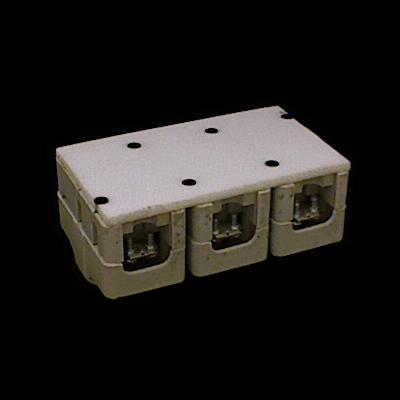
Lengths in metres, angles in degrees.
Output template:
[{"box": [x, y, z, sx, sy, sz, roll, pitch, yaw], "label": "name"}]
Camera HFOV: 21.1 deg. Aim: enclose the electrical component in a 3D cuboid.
[{"box": [0.000, 0.000, 0.637, 0.150, 0.063, 0.088, -13, 33, -21], "label": "electrical component"}]
